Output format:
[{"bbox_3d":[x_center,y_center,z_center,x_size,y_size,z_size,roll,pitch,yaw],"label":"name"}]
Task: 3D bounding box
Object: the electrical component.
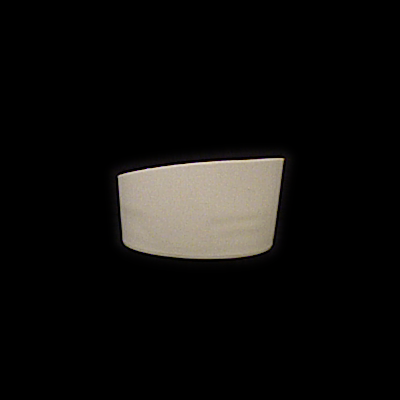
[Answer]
[{"bbox_3d":[0.000,0.000,0.643,0.099,0.064,0.098,2,11,0],"label":"electrical component"}]
